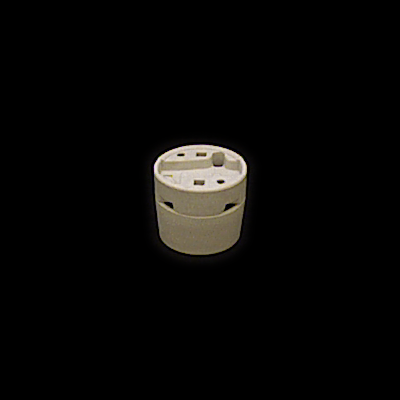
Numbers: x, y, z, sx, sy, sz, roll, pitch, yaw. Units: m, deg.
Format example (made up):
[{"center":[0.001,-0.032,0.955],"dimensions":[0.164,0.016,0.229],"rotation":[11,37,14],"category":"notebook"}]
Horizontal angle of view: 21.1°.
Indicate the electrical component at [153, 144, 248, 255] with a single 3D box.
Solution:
[{"center":[0.000,0.000,0.638],"dimensions":[0.055,0.047,0.055],"rotation":[1,31,0],"category":"electrical component"}]
